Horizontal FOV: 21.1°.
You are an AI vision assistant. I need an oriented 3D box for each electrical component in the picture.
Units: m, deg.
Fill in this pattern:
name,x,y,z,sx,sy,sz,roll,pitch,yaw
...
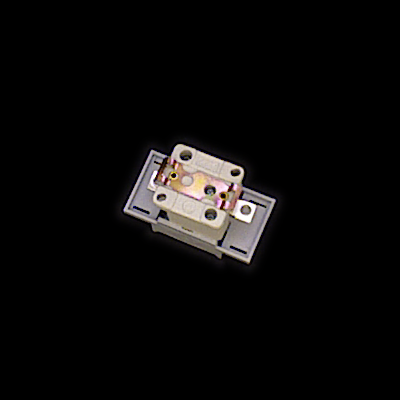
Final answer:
name,x,y,z,sx,sy,sz,roll,pitch,yaw
electrical component,0.000,0.000,0.625,0.081,0.042,0.063,22,-15,6
